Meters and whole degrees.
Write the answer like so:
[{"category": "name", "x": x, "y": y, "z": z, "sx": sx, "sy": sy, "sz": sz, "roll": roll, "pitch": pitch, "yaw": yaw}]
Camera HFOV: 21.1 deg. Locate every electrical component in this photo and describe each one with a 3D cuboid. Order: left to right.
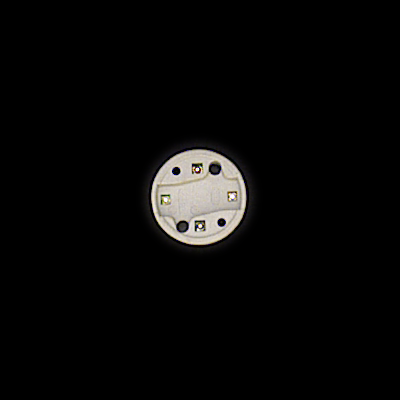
[{"category": "electrical component", "x": 0.000, "y": 0.000, "z": 0.636, "sx": 0.055, "sy": 0.056, "sz": 0.047, "roll": 0, "pitch": -7, "yaw": 0}]
